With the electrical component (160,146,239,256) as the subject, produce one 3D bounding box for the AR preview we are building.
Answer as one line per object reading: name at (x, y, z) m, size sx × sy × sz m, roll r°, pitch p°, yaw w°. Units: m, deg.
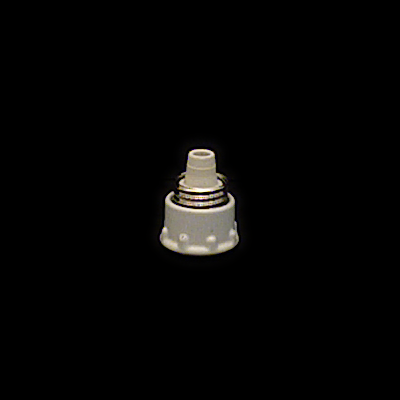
electrical component at (0.000, 0.000, 0.645) m, size 0.048 × 0.063 × 0.047 m, roll 1°, pitch 23°, yaw 0°
